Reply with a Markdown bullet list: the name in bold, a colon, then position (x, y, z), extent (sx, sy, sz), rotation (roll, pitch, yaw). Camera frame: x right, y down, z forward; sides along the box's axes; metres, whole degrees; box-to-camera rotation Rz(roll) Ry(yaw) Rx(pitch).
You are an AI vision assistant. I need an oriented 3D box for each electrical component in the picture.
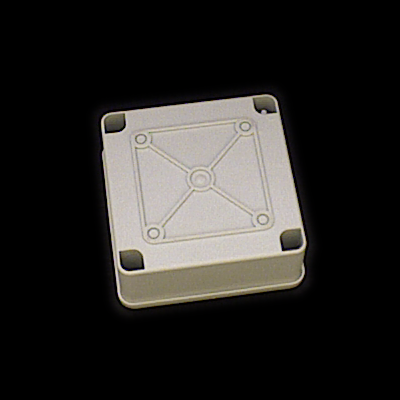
- **electrical component**: position (0.000, 0.000, 0.629), extent (0.109, 0.108, 0.056), rotation (-7, -27, -5)
